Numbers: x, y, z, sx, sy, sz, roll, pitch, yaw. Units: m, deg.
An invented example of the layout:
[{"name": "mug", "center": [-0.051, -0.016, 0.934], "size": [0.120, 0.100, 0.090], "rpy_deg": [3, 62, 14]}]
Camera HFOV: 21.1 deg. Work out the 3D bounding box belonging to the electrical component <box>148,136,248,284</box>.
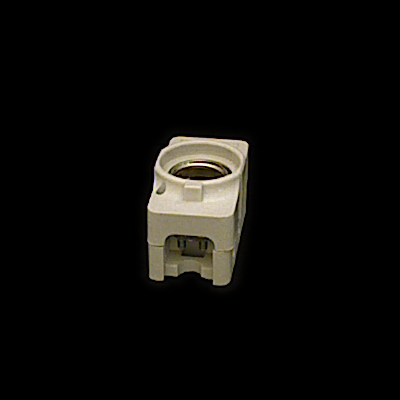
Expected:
[{"name": "electrical component", "center": [0.000, 0.000, 0.642], "size": [0.050, 0.056, 0.088], "rpy_deg": [4, 32, 6]}]
